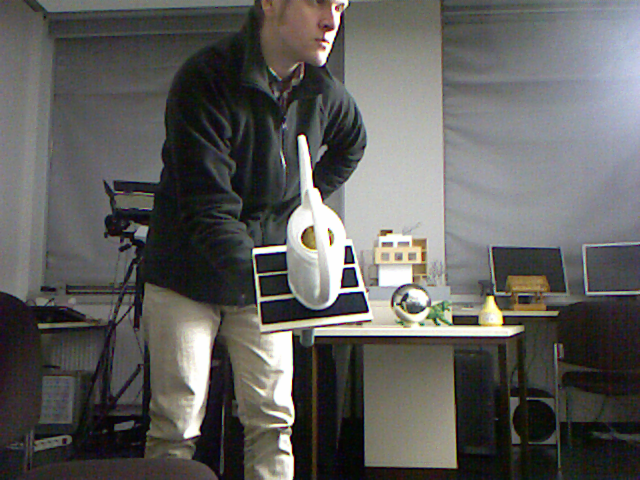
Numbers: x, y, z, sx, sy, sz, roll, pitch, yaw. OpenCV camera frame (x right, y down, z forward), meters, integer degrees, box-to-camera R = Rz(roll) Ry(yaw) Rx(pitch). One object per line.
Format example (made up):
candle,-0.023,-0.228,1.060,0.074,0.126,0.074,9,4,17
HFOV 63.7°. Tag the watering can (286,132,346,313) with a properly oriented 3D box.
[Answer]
watering can,-0.013,-0.018,0.939,0.104,0.356,0.219,-4,-41,-7
